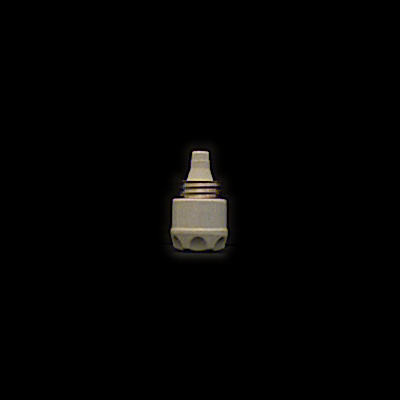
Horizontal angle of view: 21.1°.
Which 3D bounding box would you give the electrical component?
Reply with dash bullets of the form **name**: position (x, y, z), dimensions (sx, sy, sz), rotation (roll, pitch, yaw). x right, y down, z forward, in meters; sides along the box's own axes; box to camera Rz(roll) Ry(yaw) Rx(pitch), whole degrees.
- **electrical component**: position (0.000, 0.000, 0.661), dimensions (0.035, 0.061, 0.035), rotation (1, 0, 0)
